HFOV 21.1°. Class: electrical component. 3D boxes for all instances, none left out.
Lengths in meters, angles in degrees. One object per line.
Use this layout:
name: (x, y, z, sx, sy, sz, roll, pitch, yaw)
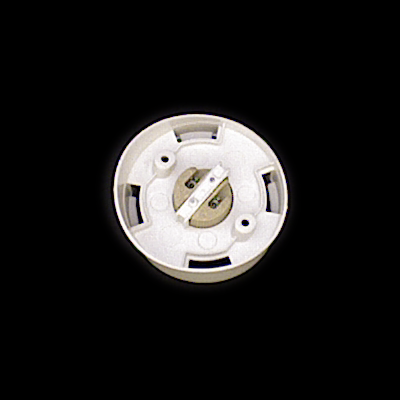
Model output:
electrical component: (0.000, 0.000, 0.623, 0.099, 0.099, 0.064, 0, -16, 0)
